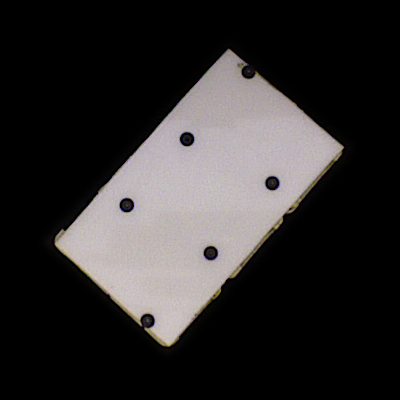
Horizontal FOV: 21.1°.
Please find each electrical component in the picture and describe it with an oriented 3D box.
[{"bbox_3d":[0.000,0.000,0.630,0.089,0.150,0.061,42,-4,4],"label":"electrical component"}]
